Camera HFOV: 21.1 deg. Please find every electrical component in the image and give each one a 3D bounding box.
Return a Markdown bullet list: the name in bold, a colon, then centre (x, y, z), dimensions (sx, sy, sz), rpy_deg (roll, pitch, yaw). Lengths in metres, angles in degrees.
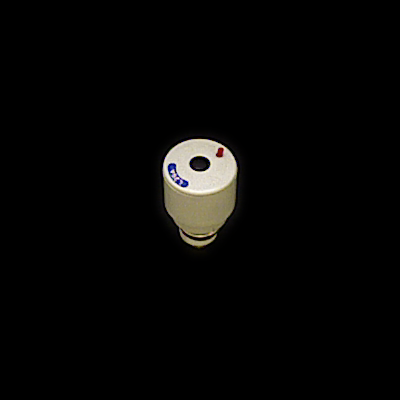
- **electrical component**: centre (0.000, 0.000, 0.621), dimensions (0.040, 0.040, 0.079), rpy_deg (0, -38, -1)
